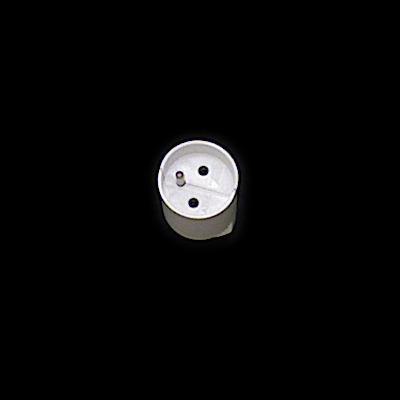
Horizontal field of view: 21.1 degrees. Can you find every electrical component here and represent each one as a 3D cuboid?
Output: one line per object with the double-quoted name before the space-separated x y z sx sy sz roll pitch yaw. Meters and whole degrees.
"electrical component" 0.000 0.000 0.615 0.043 0.043 0.080 0 -17 1
